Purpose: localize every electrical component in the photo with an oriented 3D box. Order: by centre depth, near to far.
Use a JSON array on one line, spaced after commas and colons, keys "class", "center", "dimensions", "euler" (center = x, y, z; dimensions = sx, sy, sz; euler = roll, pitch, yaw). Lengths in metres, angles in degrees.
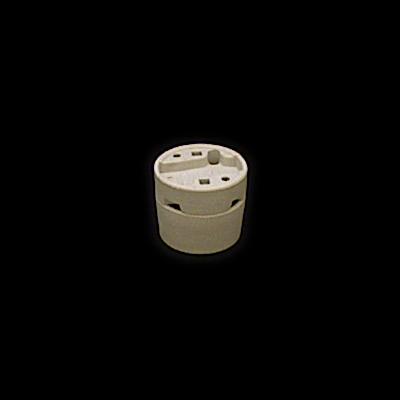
[{"class": "electrical component", "center": [0.000, 0.000, 0.637], "dimensions": [0.055, 0.047, 0.055], "euler": [1, 31, 0]}]
